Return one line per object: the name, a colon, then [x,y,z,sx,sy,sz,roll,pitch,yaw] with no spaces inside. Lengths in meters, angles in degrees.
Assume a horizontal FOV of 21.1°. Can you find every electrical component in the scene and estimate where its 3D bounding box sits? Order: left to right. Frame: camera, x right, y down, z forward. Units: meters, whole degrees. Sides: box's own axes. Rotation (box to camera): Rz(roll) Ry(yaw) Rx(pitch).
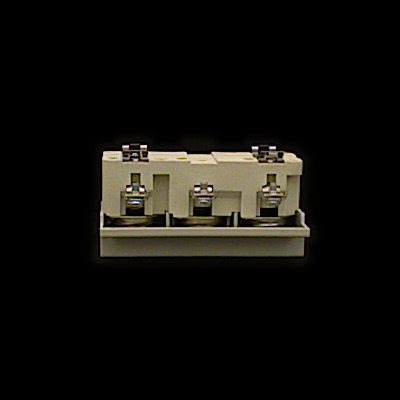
electrical component: [0.000,0.000,0.654,0.122,0.063,0.078,0,10,-5]
